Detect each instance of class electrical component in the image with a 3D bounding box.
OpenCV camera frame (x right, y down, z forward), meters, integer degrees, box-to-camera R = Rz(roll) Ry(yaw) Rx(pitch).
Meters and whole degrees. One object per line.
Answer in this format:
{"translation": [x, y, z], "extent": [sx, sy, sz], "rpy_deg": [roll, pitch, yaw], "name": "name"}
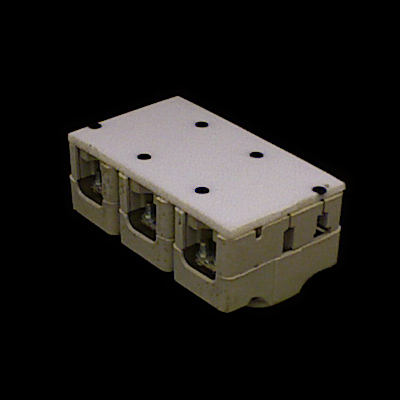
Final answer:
{"translation": [0.000, 0.000, 0.641], "extent": [0.089, 0.063, 0.147], "rpy_deg": [-23, 38, -34], "name": "electrical component"}
